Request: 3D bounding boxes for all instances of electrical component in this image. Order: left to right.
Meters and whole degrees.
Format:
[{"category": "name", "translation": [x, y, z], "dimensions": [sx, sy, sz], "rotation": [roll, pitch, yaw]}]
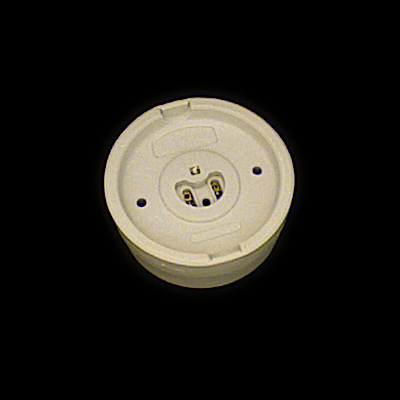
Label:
[{"category": "electrical component", "translation": [0.000, 0.000, 0.635], "dimensions": [0.108, 0.108, 0.060], "rotation": [0, -26, 0]}]
